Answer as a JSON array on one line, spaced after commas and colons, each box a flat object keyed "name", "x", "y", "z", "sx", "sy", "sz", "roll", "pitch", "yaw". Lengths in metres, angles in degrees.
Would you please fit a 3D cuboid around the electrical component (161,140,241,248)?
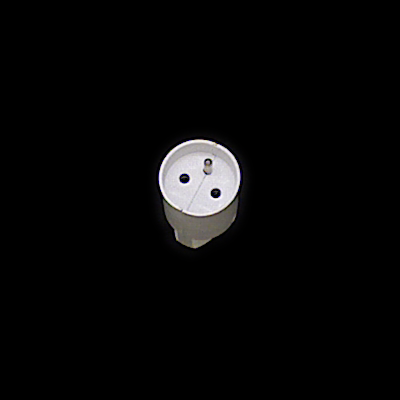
[{"name": "electrical component", "x": 0.000, "y": 0.000, "z": 0.616, "sx": 0.043, "sy": 0.043, "sz": 0.080, "roll": 0, "pitch": -17, "yaw": -1}]
